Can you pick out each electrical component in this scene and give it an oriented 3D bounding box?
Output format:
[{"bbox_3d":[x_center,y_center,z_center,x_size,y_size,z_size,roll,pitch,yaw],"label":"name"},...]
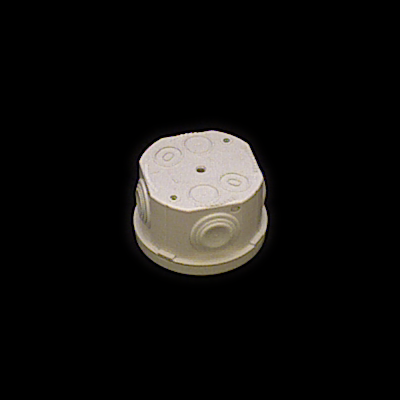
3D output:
[{"bbox_3d":[0.000,0.000,0.633,0.080,0.051,0.080,0,43,0],"label":"electrical component"}]
